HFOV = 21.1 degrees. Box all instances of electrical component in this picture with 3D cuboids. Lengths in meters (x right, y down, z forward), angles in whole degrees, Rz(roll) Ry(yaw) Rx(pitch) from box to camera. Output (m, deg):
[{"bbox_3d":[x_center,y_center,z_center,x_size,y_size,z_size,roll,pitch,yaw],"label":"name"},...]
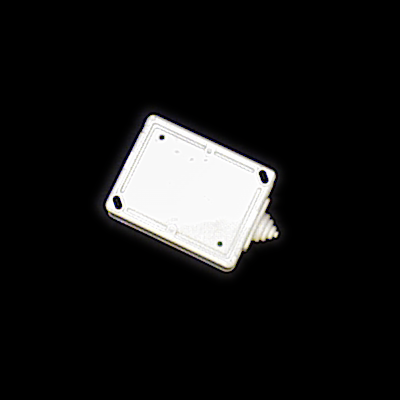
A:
[{"bbox_3d":[0.000,0.000,0.626,0.096,0.062,0.061,25,-6,3],"label":"electrical component"}]
